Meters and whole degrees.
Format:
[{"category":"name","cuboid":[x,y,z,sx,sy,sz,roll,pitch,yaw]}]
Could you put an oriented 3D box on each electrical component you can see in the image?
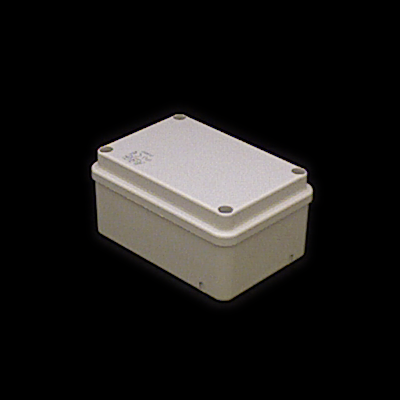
[{"category":"electrical component","cuboid":[0.000,0.000,0.633,0.112,0.058,0.078,27,40,35]}]
